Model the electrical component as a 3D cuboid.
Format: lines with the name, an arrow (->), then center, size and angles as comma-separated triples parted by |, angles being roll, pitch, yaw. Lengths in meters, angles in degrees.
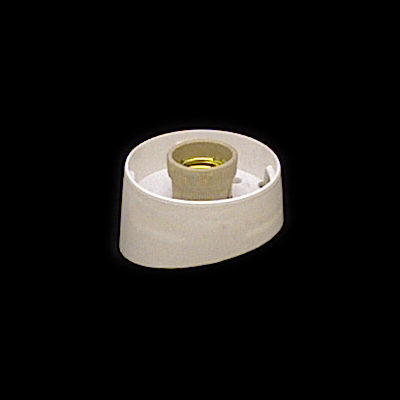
electrical component -> 0.000, 0.000, 0.634 | 0.099, 0.065, 0.097 | 0, 31, 0
